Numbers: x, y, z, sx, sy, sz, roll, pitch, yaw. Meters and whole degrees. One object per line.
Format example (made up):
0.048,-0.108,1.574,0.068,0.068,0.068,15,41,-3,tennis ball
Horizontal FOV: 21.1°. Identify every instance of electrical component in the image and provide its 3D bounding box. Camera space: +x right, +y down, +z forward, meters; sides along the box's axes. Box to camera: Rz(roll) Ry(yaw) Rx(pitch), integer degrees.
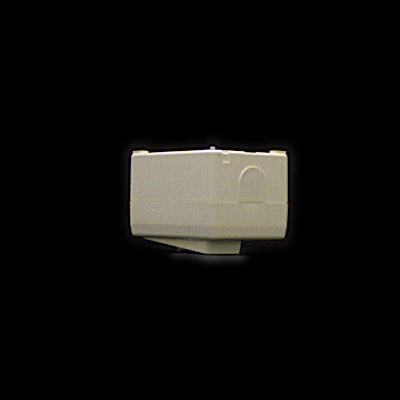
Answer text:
0.001,0.000,0.654,0.062,0.061,0.095,0,1,-40,electrical component
